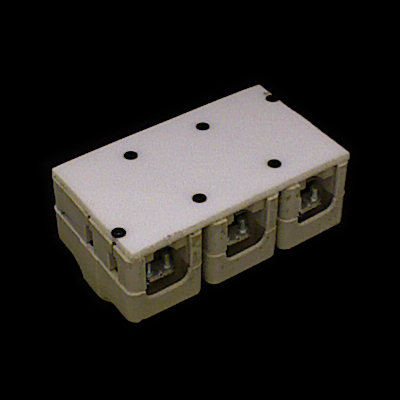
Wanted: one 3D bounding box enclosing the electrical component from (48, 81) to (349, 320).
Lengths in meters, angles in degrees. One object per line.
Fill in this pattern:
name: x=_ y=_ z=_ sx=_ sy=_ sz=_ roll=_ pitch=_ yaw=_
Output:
electrical component: x=0.000 y=0.000 z=0.634 sx=0.150 sy=0.063 sz=0.088 roll=-24 pitch=47 yaw=-25
